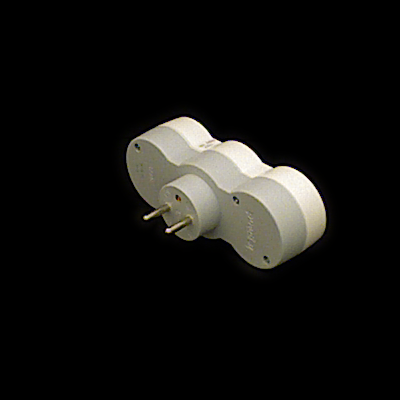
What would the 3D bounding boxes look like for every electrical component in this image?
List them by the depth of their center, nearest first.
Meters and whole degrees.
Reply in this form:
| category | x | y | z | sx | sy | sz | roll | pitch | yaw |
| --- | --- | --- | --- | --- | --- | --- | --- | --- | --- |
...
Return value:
| category | x | y | z | sx | sy | sz | roll | pitch | yaw |
| --- | --- | --- | --- | --- | --- | --- | --- | --- | --- |
| electrical component | 0.000 | 0.000 | 0.643 | 0.074 | 0.053 | 0.136 | -28 | 43 | -36 |
